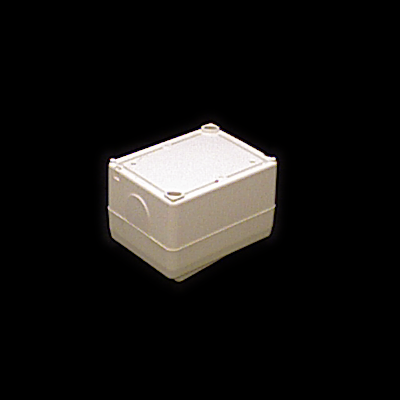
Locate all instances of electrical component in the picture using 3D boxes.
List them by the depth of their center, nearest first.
[{"bbox_3d":[0.000,0.000,0.634,0.096,0.061,0.061,-22,38,-34],"label":"electrical component"}]
